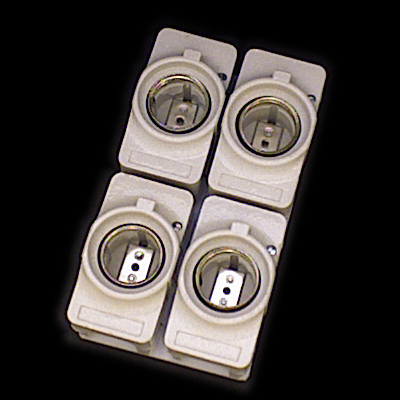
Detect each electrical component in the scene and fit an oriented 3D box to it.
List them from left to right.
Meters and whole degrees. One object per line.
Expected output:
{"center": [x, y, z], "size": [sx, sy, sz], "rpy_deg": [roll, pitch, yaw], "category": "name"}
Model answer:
{"center": [0.000, 0.000, 0.625], "size": [0.105, 0.187, 0.060], "rpy_deg": [15, -17, 5], "category": "electrical component"}
